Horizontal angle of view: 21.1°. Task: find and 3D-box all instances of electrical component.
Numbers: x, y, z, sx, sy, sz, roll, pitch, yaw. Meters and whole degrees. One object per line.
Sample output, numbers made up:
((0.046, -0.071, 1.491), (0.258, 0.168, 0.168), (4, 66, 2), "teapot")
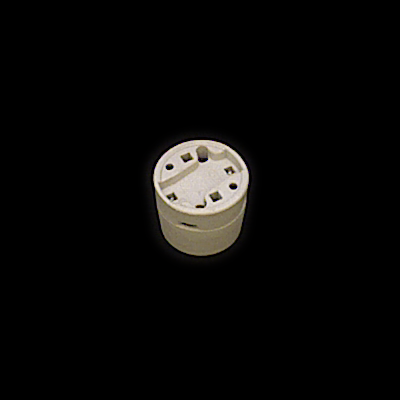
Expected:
((0.000, 0.000, 0.633), (0.055, 0.055, 0.047), (0, -38, 0), "electrical component")
